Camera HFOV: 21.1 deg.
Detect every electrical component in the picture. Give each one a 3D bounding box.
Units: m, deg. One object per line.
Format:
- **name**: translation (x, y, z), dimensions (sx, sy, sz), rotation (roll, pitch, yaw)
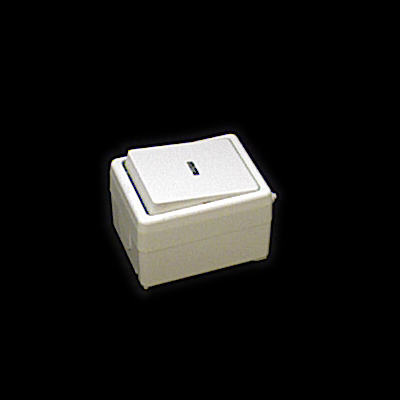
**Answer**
- **electrical component**: translation (0.000, 0.000, 0.631), dimensions (0.096, 0.061, 0.061), rotation (-13, 44, -15)
